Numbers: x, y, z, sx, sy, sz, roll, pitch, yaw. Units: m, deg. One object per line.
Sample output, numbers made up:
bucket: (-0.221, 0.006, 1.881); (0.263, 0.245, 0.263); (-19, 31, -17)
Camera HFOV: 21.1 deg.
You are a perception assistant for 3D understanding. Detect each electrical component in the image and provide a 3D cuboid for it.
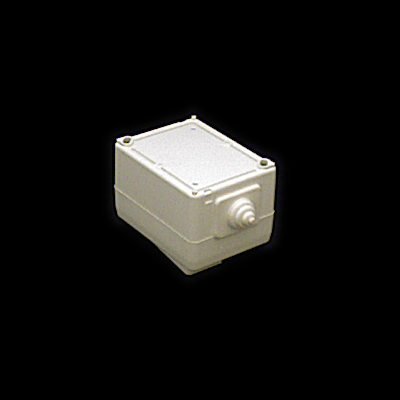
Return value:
electrical component: (0.000, 0.000, 0.630); (0.061, 0.061, 0.096); (-21, 37, -32)
